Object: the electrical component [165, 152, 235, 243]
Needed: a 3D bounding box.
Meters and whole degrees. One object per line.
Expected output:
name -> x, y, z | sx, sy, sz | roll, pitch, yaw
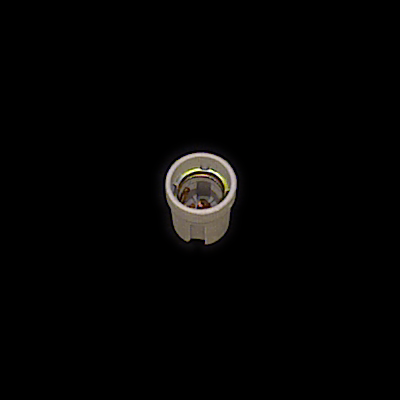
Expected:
electrical component -> 0.000, 0.000, 0.629 | 0.040, 0.040, 0.046 | 0, -28, 0
